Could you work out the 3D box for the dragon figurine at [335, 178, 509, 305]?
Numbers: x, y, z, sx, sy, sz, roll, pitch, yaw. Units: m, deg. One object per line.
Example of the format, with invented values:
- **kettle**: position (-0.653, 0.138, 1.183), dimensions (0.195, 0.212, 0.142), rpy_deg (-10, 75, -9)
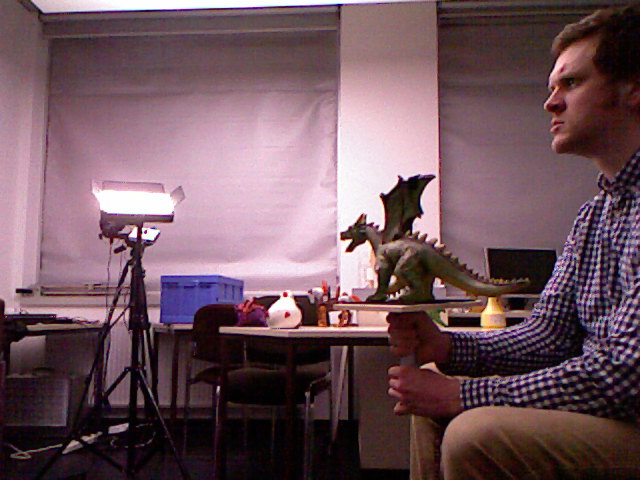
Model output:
- **dragon figurine**: position (0.176, -0.001, 0.997), dimensions (0.122, 0.244, 0.408), rpy_deg (-3, -4, -39)
